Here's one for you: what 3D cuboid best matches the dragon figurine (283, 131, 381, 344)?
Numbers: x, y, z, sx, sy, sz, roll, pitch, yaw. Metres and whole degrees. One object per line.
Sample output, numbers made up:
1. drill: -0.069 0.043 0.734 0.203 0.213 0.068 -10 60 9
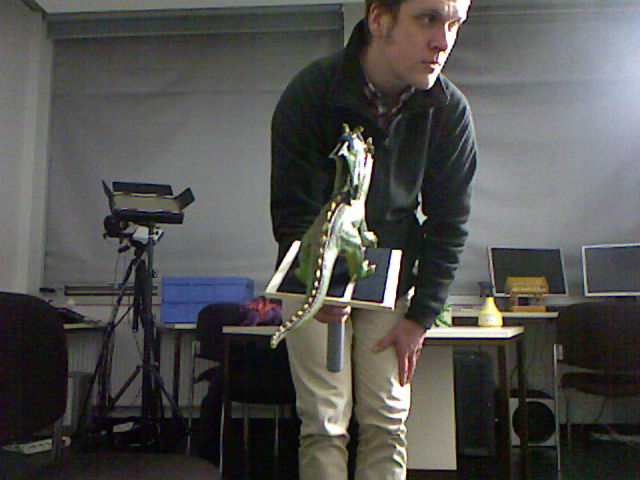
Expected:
1. dragon figurine: 0.026 -0.050 0.803 0.123 0.238 0.420 9 29 13
